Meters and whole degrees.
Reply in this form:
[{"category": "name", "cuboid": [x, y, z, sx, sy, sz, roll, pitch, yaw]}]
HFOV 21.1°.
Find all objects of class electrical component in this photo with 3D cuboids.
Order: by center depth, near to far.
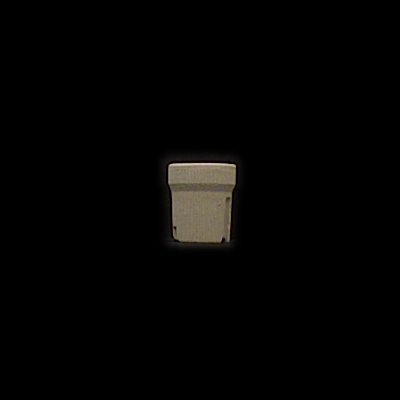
[{"category": "electrical component", "cuboid": [0.000, 0.000, 0.650, 0.040, 0.046, 0.040, 1, 1, 1]}]
